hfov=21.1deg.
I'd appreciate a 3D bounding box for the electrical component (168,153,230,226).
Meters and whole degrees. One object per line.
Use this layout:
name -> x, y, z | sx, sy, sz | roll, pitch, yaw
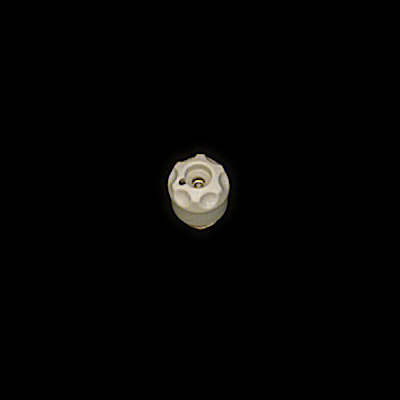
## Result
electrical component -> 0.000, 0.000, 0.634 | 0.035, 0.035, 0.061 | 0, -27, 1
